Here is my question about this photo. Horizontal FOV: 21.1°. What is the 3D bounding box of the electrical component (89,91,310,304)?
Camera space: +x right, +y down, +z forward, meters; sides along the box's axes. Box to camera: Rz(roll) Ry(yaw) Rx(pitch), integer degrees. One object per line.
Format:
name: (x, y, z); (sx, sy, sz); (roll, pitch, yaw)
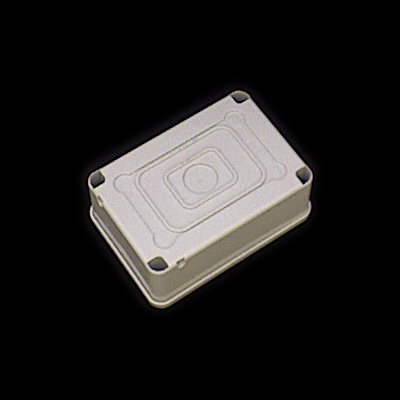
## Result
electrical component: (0.000, 0.000, 0.628); (0.113, 0.078, 0.057); (-31, -23, -15)
